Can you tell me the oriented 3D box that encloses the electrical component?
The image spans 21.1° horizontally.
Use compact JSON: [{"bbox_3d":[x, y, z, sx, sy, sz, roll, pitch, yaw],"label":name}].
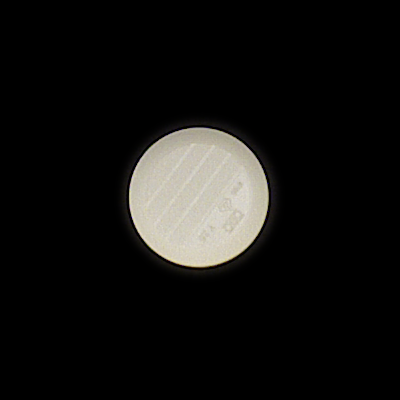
[{"bbox_3d":[0.000,0.000,0.631,0.080,0.080,0.050,0,-6,0],"label":"electrical component"}]
